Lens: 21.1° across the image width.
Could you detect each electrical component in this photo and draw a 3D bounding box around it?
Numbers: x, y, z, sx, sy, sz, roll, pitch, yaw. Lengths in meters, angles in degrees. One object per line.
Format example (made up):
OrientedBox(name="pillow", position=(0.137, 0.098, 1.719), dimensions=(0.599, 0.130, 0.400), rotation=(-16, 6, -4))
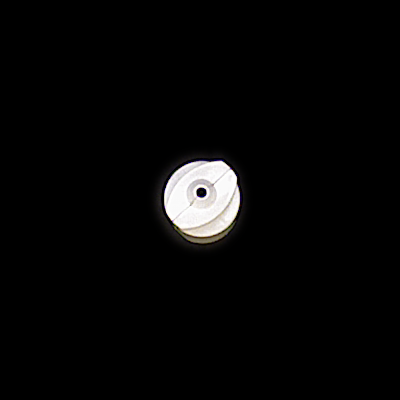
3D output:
OrientedBox(name="electrical component", position=(0.000, 0.000, 0.616), dimensions=(0.043, 0.043, 0.080), rotation=(0, -6, 1))
